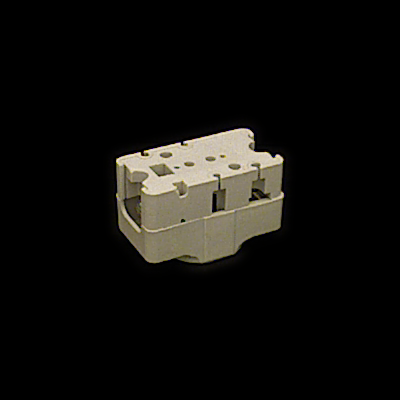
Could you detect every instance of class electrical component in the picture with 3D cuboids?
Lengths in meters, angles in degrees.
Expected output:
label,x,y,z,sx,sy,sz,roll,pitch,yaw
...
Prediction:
label,x,y,z,sx,sy,sz,roll,pitch,yaw
electrical component,0.000,0.000,0.642,0.090,0.056,0.049,-15,36,-24
